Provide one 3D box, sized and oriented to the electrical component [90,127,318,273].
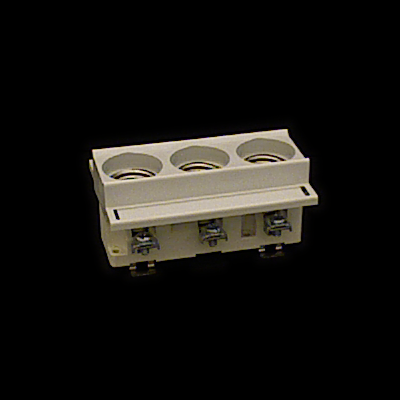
[{"bbox_3d":[0.000,0.000,0.647,0.122,0.064,0.077,-7,31,-12],"label":"electrical component"}]
